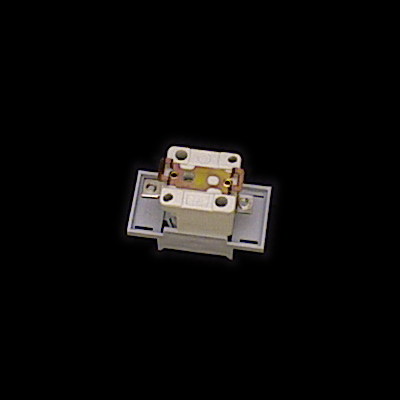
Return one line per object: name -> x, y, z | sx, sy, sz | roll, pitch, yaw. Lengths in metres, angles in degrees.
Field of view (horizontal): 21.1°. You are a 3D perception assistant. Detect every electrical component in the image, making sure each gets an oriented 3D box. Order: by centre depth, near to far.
electrical component -> 0.000, 0.000, 0.626 | 0.081, 0.042, 0.063 | 7, -27, 3
